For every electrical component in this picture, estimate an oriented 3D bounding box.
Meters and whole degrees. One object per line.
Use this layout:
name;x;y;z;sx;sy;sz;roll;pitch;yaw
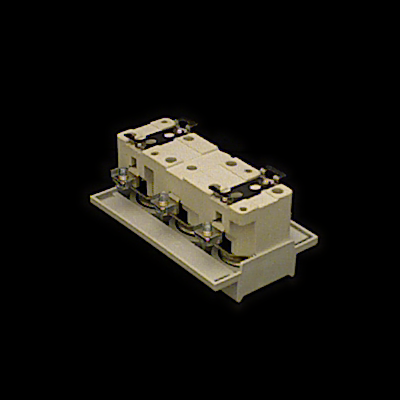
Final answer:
electrical component;0.000;0.000;0.643;0.079;0.064;0.119;-23;39;-34
